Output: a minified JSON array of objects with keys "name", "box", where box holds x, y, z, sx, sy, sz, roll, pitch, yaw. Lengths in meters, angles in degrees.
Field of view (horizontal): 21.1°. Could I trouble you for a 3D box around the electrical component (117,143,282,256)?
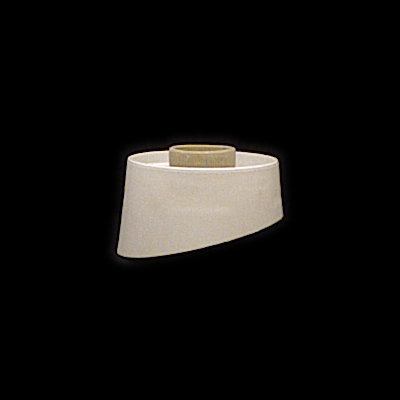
[{"name":"electrical component","box":[0.000,0.000,0.644,0.099,0.064,0.098,1,10,0]}]
